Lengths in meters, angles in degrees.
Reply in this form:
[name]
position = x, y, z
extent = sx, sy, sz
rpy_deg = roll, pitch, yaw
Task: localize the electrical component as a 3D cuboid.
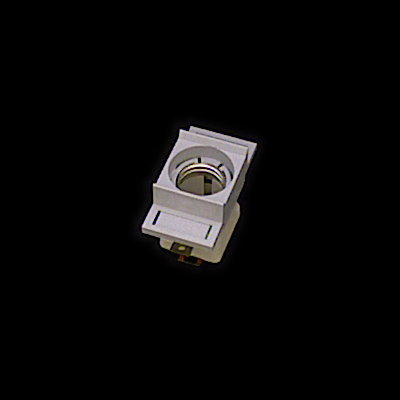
[electrical component]
position = 0.000, 0.000, 0.624
extent = 0.042, 0.081, 0.064
rpy_deg = 17, -36, 11
